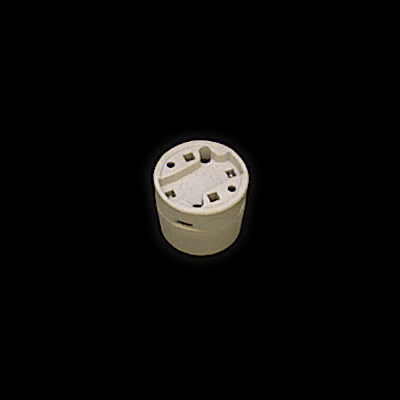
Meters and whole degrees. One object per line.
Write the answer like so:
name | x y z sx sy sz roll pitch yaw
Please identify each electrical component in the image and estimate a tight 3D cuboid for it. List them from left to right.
electrical component | 0.000 0.000 0.635 0.055 0.055 0.047 0 -37 0
